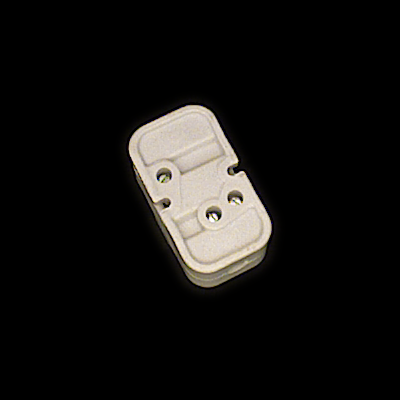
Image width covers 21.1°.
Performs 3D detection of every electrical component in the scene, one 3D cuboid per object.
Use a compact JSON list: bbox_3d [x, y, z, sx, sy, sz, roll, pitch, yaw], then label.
[{"bbox_3d":[0.000,0.000,0.636,0.054,0.095,0.059,-26,-15,-7],"label":"electrical component"}]
